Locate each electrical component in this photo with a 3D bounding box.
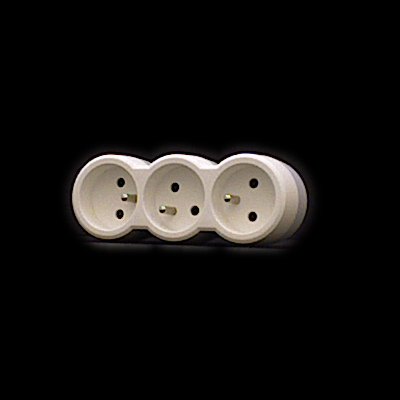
[{"bbox_3d":[0.000,0.000,0.651,0.138,0.052,0.074,0,-2,24],"label":"electrical component"}]
